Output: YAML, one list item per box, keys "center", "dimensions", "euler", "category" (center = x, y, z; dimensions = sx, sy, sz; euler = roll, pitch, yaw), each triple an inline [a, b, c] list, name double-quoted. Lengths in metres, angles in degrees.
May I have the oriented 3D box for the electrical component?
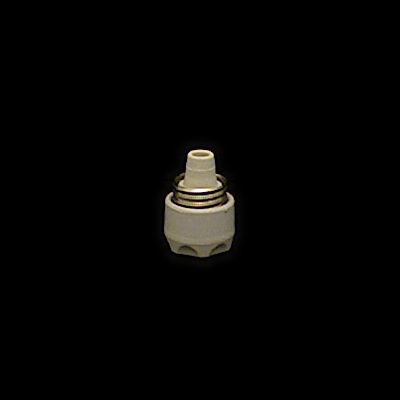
- center: [0.000, 0.000, 0.645]
  dimensions: [0.043, 0.063, 0.043]
  euler: [1, 23, 0]
  category: "electrical component"
